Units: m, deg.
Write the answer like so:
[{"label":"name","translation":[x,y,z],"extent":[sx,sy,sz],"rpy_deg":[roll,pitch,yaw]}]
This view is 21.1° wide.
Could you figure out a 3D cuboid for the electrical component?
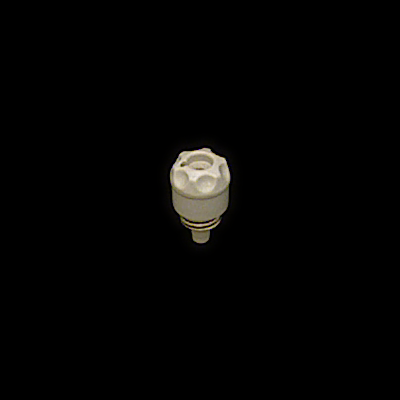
[{"label":"electrical component","translation":[0.000,0.000,0.638],"extent":[0.035,0.062,0.035],"rpy_deg":[0,42,0]}]
